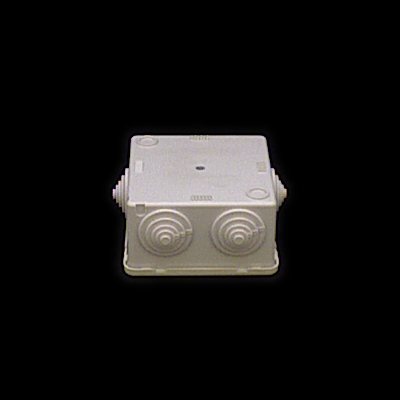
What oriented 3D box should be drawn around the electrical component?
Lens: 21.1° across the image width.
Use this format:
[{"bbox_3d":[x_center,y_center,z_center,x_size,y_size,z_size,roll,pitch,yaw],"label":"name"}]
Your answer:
[{"bbox_3d":[0.000,0.000,0.637,0.100,0.049,0.098,0,31,-2],"label":"electrical component"}]
